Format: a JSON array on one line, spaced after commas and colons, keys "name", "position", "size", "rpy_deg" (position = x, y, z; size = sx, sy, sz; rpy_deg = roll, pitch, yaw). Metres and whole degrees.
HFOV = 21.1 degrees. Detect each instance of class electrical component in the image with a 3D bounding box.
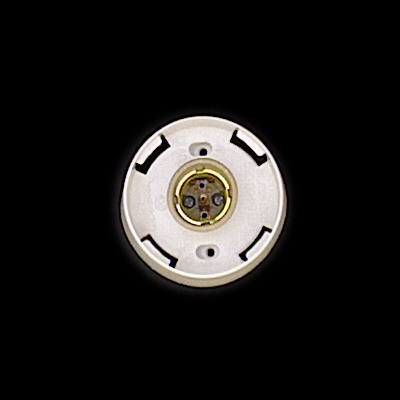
[{"name": "electrical component", "position": [0.000, 0.000, 0.625], "size": [0.099, 0.099, 0.064], "rpy_deg": [0, -7, 1]}]
